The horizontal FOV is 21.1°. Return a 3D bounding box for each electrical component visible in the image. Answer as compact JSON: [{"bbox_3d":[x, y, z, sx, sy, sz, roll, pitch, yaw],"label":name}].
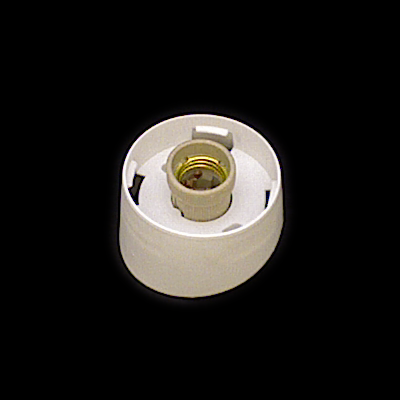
[{"bbox_3d":[0.000,0.000,0.627,0.099,0.098,0.064,0,-37,0],"label":"electrical component"}]
